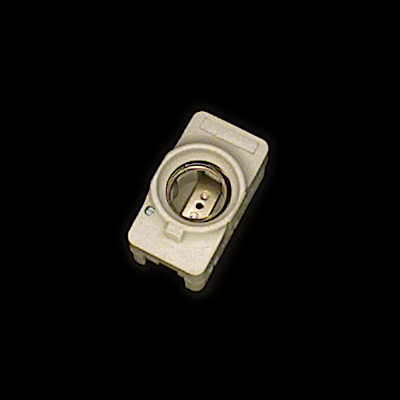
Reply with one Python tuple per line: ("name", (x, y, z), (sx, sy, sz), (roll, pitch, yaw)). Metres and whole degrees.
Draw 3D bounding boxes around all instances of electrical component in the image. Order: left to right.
("electrical component", (0.000, 0.000, 0.636), (0.050, 0.090, 0.055), (26, -15, 8))
